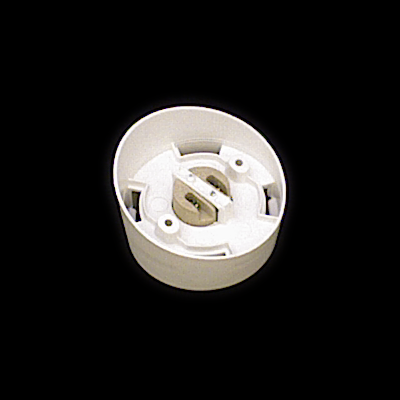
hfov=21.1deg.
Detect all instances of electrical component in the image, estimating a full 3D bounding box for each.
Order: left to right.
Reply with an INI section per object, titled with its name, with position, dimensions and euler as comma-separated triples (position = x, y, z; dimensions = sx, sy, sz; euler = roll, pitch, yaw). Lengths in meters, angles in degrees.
[electrical component]
position = 0.000, 0.000, 0.626
dimensions = 0.099, 0.098, 0.064
euler = 0, -38, 1
